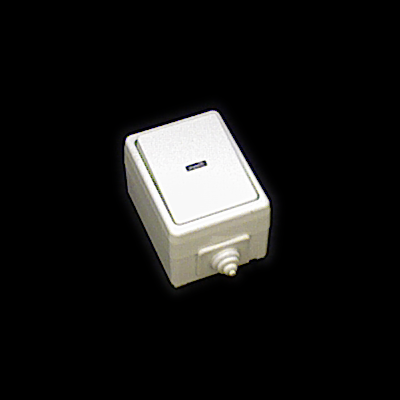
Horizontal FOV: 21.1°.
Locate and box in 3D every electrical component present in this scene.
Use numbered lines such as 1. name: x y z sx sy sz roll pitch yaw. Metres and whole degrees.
1. electrical component: 0.000 0.000 0.626 0.062 0.096 0.061 -18 -35 -14
